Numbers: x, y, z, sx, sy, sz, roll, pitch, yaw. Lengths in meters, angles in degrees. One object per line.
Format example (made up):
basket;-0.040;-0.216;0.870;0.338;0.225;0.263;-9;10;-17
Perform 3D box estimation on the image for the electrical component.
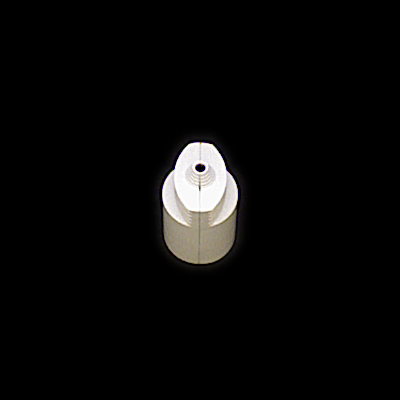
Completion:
electrical component;0.000;0.000;0.617;0.043;0.043;0.081;0;-27;0
